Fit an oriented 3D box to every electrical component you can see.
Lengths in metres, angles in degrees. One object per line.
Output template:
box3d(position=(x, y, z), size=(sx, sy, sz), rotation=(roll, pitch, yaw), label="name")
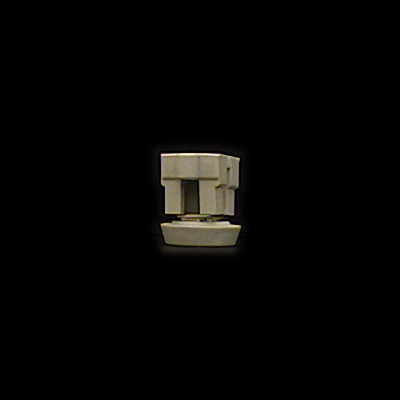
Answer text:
box3d(position=(0.000, 0.000, 0.655), size=(0.048, 0.055, 0.067), rotation=(1, 0, 19), label="electrical component")
